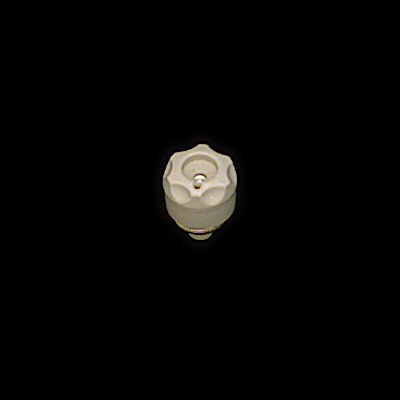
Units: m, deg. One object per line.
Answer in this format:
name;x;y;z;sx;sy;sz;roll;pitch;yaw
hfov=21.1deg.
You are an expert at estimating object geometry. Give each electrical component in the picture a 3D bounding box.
electrical component;0.000;0.000;0.636;0.043;0.043;0.062;0;-38;0
